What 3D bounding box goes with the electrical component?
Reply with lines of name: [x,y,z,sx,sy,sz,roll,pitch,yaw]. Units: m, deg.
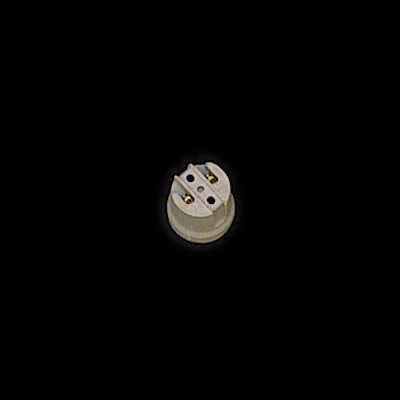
electrical component: [0.000,0.000,0.633,0.040,0.040,0.046,0,-17,0]
